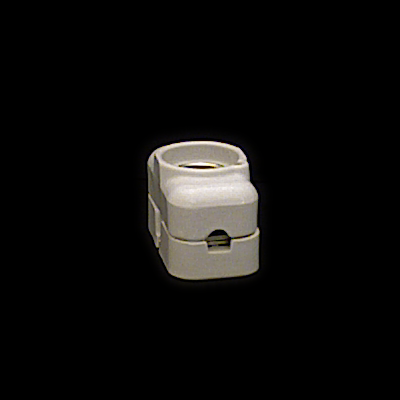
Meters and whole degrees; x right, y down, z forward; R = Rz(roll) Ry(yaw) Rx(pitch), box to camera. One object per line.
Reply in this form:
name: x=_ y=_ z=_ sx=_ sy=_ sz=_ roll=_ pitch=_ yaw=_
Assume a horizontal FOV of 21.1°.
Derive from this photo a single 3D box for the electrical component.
electrical component: x=0.000 y=0.000 z=0.646 sx=0.054 sy=0.060 sz=0.093 roll=-5 pitch=23 yaw=-12
